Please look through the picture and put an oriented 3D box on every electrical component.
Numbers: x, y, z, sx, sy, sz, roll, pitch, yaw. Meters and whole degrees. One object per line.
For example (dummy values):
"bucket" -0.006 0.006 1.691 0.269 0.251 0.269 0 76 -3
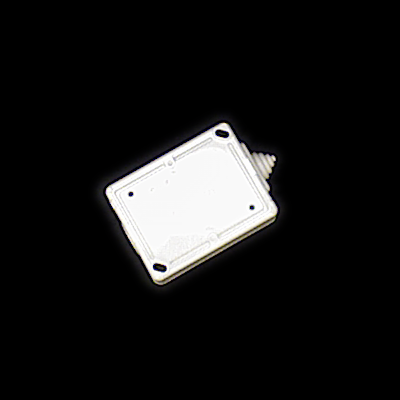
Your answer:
"electrical component" 0.000 0.000 0.627 0.096 0.062 0.061 -30 -7 -3
